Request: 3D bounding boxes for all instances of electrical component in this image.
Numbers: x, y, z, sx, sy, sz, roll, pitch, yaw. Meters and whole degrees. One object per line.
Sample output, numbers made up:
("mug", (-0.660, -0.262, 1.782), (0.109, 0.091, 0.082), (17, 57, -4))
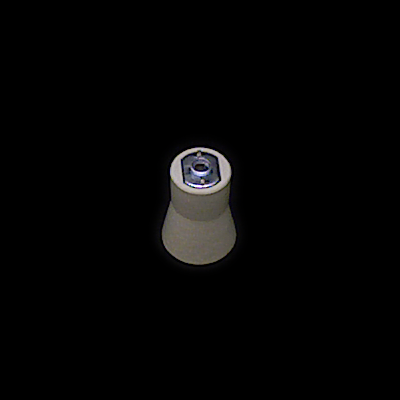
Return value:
("electrical component", (0.000, 0.000, 0.626), (0.044, 0.044, 0.065), (0, -38, -2))
